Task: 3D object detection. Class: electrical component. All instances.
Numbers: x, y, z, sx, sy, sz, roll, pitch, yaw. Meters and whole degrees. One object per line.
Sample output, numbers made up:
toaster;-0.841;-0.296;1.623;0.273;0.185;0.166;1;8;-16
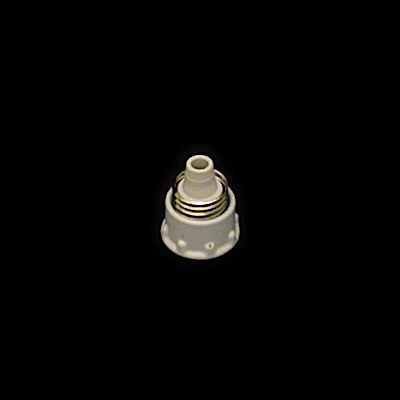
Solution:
electrical component;0.000;0.000;0.636;0.048;0.062;0.047;0;44;0
